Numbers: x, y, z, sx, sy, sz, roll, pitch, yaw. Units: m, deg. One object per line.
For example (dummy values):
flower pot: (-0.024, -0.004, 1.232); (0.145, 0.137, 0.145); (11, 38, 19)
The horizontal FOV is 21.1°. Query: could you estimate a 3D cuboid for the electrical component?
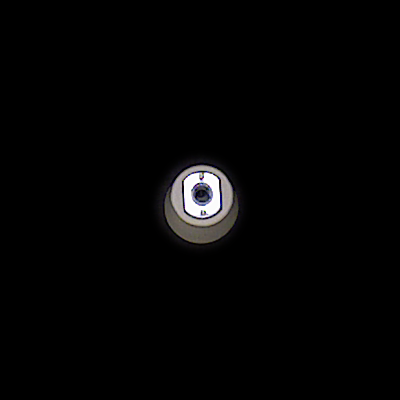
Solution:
electrical component: (0.000, 0.000, 0.626); (0.044, 0.044, 0.065); (0, -6, -1)
